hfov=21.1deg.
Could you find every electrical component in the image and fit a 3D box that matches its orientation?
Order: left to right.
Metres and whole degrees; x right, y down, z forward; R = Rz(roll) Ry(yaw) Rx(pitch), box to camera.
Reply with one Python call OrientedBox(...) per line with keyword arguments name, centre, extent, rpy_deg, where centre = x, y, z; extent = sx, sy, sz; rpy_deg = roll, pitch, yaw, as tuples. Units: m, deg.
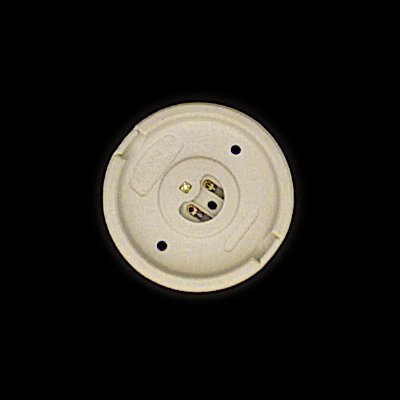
OrientedBox(name="electrical component", centre=(0.000, 0.000, 0.635), extent=(0.108, 0.108, 0.060), rpy_deg=(0, -5, 0))
